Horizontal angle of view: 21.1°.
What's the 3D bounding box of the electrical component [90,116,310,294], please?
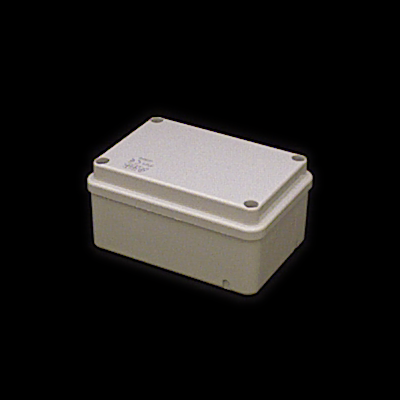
[{"bbox_3d":[0.000,0.000,0.633,0.112,0.058,0.078,17,35,23],"label":"electrical component"}]
